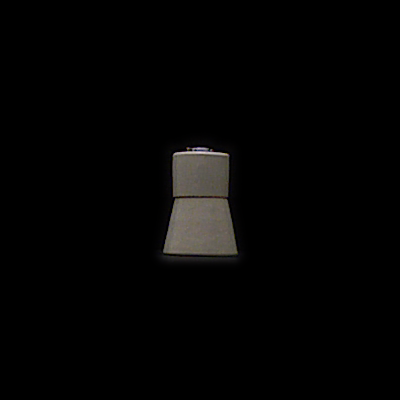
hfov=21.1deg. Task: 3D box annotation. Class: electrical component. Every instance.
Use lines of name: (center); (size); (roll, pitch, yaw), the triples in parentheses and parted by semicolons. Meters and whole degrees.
electrical component: (0.000, 0.000, 0.652); (0.044, 0.065, 0.044); (0, 1, 0)
